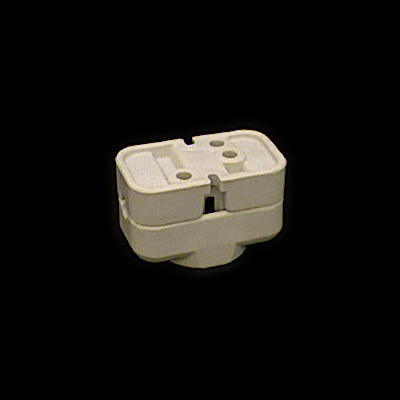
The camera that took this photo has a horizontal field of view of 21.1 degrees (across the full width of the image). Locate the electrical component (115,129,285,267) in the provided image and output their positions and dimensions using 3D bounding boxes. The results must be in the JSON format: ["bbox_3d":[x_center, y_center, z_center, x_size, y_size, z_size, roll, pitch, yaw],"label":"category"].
[{"bbox_3d":[0.000,0.000,0.642,0.096,0.060,0.052,-10,34,-16],"label":"electrical component"}]
